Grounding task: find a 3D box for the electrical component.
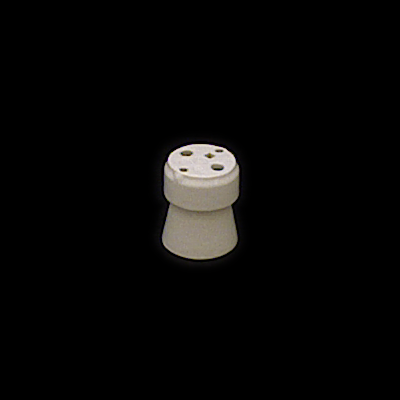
[{"bbox_3d":[0.000,0.000,0.635,0.045,0.056,0.044,1,33,0],"label":"electrical component"}]
